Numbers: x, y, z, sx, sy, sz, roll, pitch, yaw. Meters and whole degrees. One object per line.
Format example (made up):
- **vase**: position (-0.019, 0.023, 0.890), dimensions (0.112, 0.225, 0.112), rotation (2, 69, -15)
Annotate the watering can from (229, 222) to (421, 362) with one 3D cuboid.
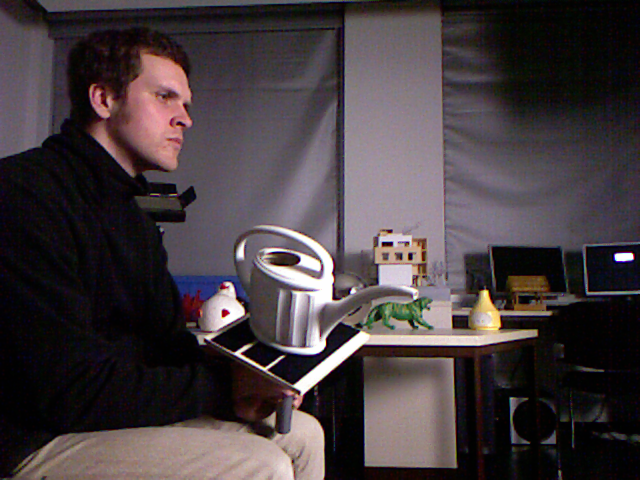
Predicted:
- **watering can**: position (-0.015, 0.098, 0.814), dimensions (0.350, 0.220, 0.106), rotation (21, 32, 30)
